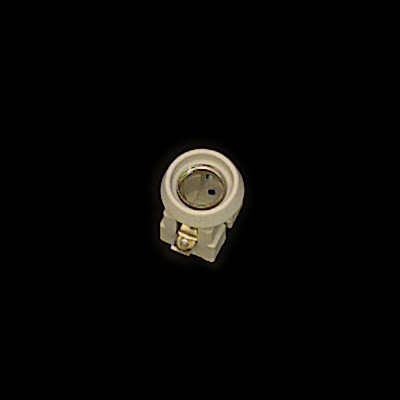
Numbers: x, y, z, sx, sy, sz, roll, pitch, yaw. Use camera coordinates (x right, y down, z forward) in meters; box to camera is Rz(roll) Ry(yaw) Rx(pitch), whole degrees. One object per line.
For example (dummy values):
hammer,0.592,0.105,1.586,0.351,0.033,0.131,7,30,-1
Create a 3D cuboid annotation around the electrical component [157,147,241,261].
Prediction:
electrical component,0.000,0.000,0.636,0.048,0.067,0.055,20,-25,12
